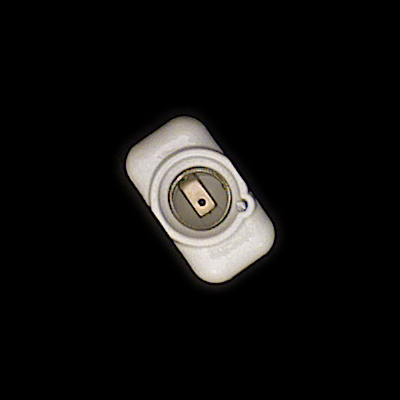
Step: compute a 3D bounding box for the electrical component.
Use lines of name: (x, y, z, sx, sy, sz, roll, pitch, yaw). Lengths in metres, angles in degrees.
electrical component: (0.000, 0.000, 0.635, 0.054, 0.095, 0.059, -35, -5, -2)
